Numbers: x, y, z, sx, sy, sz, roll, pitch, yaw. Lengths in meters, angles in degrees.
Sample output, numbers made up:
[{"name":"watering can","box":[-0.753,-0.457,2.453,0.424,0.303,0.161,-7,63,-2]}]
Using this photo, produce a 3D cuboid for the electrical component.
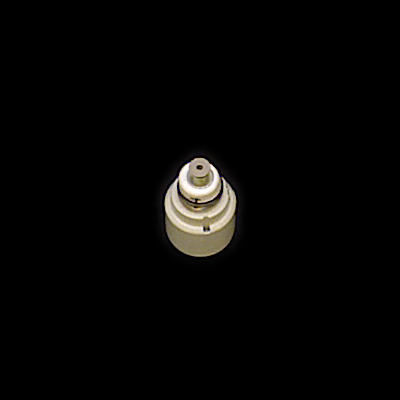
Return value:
[{"name":"electrical component","box":[0.000,0.000,0.617,0.040,0.040,0.078,0,-28,1]}]
